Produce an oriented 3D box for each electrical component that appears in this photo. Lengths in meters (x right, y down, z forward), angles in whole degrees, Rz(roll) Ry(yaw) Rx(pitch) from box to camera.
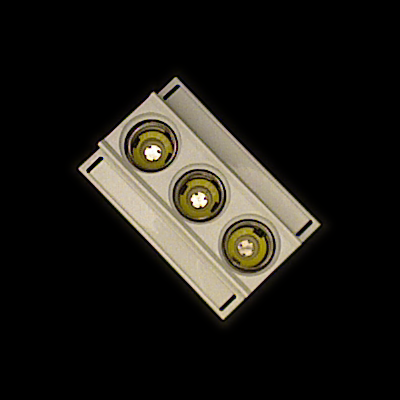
[{"bbox_3d":[0.000,0.000,0.637,0.079,0.121,0.063,-44,-5,-5],"label":"electrical component"}]
